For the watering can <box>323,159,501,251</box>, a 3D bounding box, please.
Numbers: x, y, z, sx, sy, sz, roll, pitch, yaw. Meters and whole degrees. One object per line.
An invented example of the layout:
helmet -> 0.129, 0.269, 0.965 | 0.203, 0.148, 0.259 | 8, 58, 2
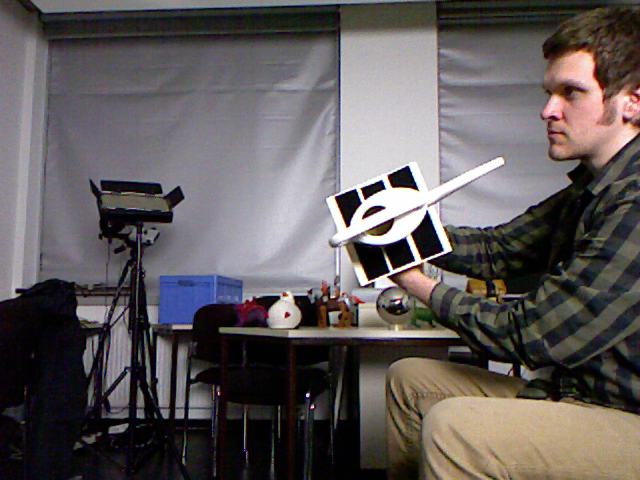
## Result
watering can -> 0.168, -0.060, 1.006 | 0.349, 0.105, 0.225 | -24, 0, 2
